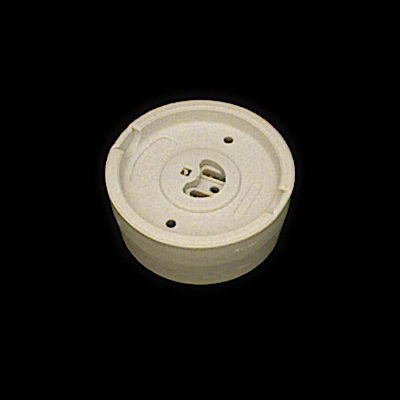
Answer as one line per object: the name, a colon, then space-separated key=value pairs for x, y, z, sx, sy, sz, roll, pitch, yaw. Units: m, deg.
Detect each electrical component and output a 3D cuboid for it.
electrical component: x=0.000 y=0.000 z=0.635 sx=0.108 sy=0.107 sz=0.060 roll=0 pitch=-37 yaw=-1
